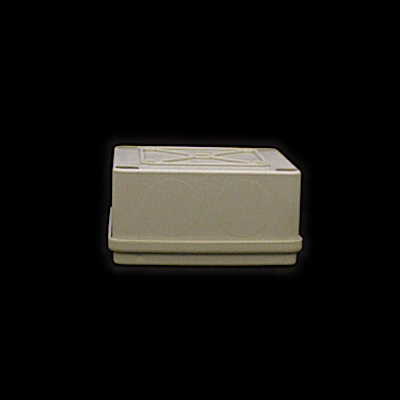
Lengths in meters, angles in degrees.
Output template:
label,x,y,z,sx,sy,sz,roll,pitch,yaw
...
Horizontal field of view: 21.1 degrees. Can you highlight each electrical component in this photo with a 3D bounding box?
label,x,y,z,sx,sy,sz,roll,pitch,yaw
electrical component,0.000,0.000,0.644,0.109,0.056,0.108,1,11,-4
